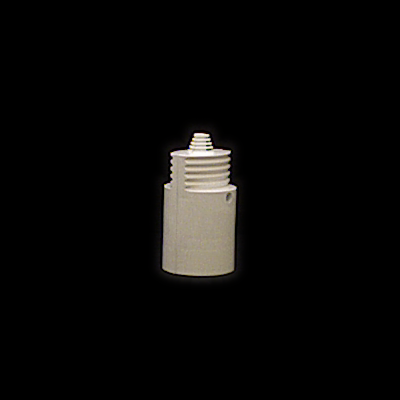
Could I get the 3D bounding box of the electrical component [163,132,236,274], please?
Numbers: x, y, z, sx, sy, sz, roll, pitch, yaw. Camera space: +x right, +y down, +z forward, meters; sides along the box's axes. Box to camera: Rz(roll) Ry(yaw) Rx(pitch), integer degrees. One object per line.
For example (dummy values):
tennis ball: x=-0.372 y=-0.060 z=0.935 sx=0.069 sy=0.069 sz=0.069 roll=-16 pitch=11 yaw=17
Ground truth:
electrical component: x=0.000 y=0.000 z=0.642 sx=0.043 sy=0.081 sz=0.043 roll=1 pitch=11 yaw=0
